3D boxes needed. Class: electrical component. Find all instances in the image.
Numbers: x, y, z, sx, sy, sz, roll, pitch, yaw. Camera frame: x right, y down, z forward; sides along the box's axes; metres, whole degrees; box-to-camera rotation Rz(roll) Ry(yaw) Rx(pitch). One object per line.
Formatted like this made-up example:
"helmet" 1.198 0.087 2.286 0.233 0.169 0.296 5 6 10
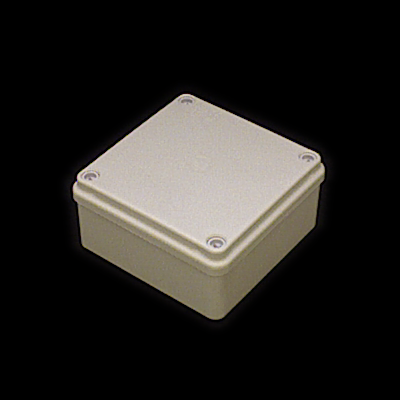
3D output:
"electrical component" 0.000 0.000 0.631 0.108 0.056 0.108 27 49 26
